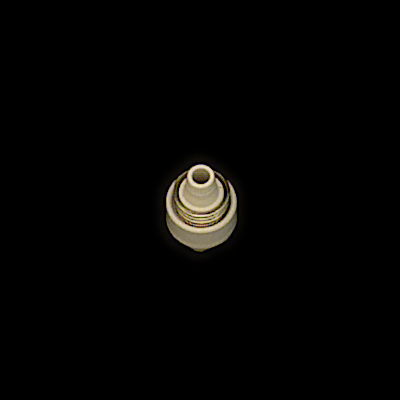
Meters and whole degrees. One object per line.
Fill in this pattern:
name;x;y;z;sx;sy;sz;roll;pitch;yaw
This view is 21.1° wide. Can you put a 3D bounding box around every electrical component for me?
electrical component;0.000;0.000;0.634;0.043;0.043;0.062;0;-28;0
